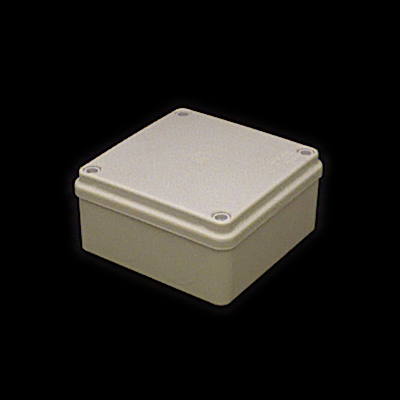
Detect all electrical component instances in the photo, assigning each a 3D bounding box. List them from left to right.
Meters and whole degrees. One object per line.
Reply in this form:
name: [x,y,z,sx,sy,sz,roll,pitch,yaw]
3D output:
electrical component: [0.000,0.000,0.635,0.108,0.057,0.108,20,36,29]
